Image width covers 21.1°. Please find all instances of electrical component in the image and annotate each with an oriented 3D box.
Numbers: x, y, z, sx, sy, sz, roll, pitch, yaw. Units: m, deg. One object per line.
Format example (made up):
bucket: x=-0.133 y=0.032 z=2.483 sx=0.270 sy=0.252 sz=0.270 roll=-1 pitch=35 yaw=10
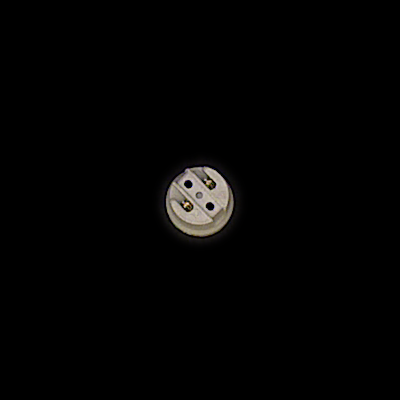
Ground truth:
electrical component: x=0.000 y=0.000 z=0.634 sx=0.040 sy=0.040 sz=0.046 roll=0 pitch=-6 yaw=0
